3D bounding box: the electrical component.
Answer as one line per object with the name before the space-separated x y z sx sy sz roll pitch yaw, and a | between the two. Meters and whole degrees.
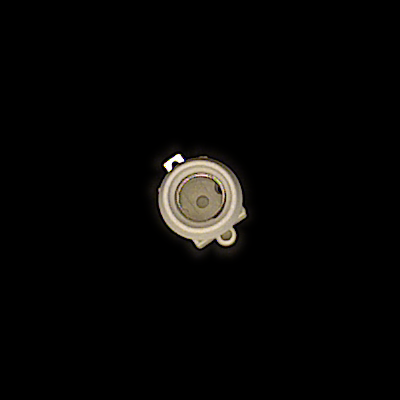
electrical component | 0.000 0.000 0.639 0.048 0.066 0.055 -36 -5 -4
